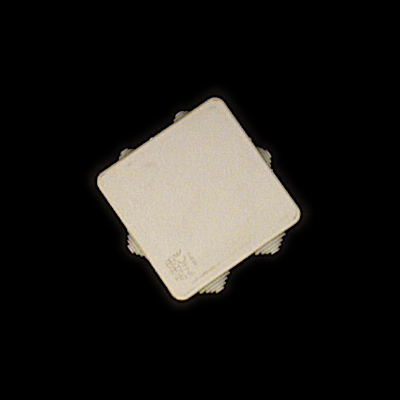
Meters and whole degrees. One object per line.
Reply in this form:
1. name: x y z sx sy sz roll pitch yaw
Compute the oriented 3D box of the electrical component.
1. electrical component: 0.000 0.000 0.642 0.100 0.100 0.048 -34 -5 -4
